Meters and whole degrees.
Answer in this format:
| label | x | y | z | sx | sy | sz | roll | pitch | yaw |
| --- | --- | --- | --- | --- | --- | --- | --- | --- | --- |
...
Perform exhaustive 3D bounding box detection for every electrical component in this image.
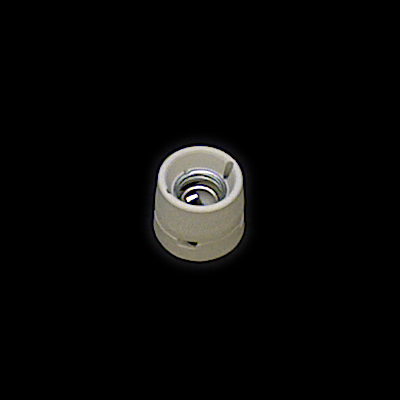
| label | x | y | z | sx | sy | sz | roll | pitch | yaw |
| --- | --- | --- | --- | --- | --- | --- | --- | --- | --- |
| electrical component | 0.000 | 0.000 | 0.634 | 0.055 | 0.055 | 0.047 | 0 | -38 | -2 |
